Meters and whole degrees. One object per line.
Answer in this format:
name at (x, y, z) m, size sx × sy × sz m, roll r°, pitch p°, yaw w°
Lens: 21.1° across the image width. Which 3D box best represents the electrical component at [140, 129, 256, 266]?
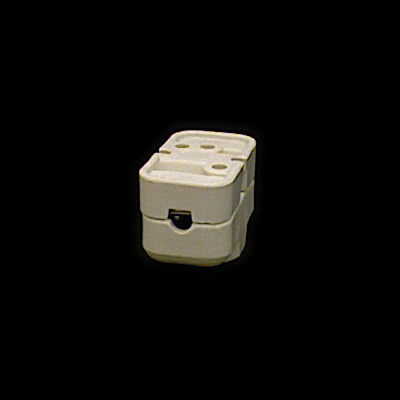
electrical component at (0.000, 0.000, 0.644) m, size 0.053 × 0.060 × 0.094 m, roll 6°, pitch 23°, yaw 12°
